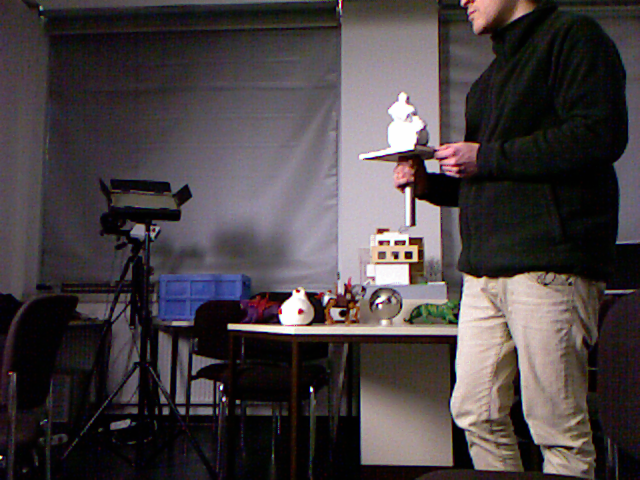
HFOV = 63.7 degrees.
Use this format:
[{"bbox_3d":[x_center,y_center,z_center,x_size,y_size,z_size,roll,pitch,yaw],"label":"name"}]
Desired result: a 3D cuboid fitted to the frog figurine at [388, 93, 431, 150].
[{"bbox_3d":[0.247,-0.330,1.455,0.123,0.159,0.138,-4,6,-24],"label":"frog figurine"}]
